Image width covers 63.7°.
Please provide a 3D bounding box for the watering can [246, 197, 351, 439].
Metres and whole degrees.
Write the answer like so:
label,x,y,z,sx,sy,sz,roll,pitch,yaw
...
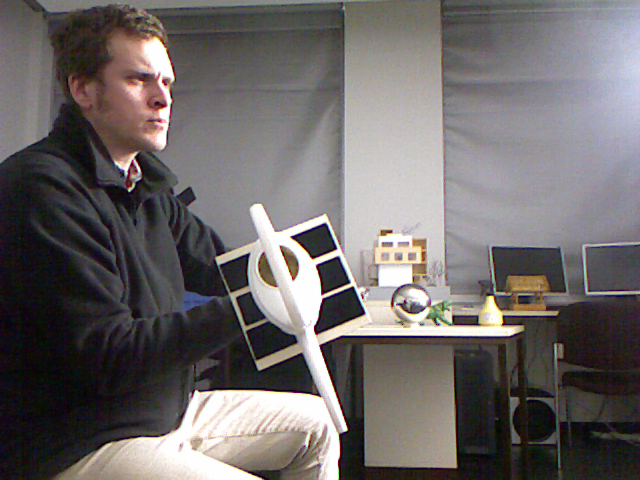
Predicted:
label,x,y,z,sx,sy,sz,roll,pitch,yaw
watering can,-0.034,0.103,0.771,0.104,0.351,0.224,-22,-8,1
